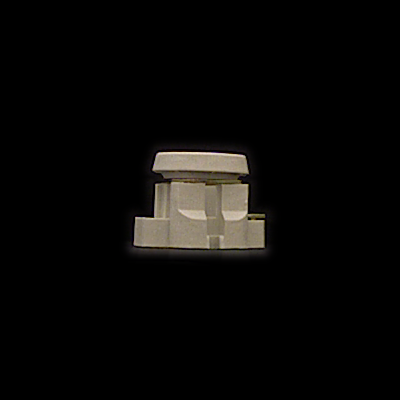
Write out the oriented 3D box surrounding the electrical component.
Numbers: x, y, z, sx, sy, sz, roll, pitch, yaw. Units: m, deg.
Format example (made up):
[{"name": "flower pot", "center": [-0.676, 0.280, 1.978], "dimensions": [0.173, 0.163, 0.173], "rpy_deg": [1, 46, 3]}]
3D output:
[{"name": "electrical component", "center": [0.000, 0.000, 0.651], "dimensions": [0.079, 0.057, 0.057], "rpy_deg": [1, 1, -20]}]
